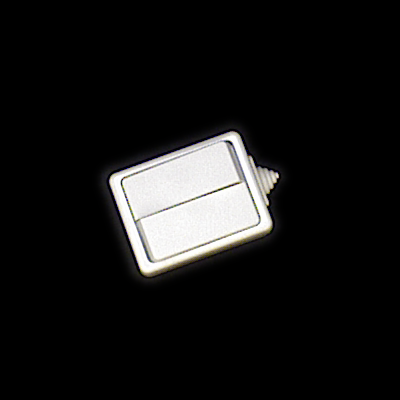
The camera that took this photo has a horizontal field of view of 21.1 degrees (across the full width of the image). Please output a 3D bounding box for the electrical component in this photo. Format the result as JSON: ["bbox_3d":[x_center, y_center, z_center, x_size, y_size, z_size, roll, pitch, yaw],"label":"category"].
[{"bbox_3d":[0.000,0.000,0.627,0.096,0.062,0.061,-20,-6,-2],"label":"electrical component"}]
